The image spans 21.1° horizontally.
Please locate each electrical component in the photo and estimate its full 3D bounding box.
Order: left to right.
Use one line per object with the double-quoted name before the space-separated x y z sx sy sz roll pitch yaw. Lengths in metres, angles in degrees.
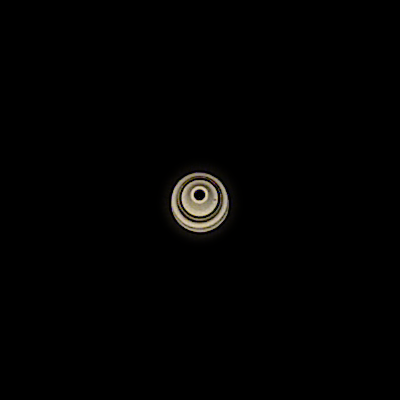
"electrical component" 0.000 0.000 0.637 0.035 0.035 0.061 0 -6 0
